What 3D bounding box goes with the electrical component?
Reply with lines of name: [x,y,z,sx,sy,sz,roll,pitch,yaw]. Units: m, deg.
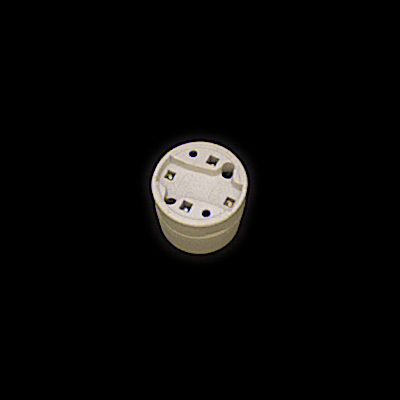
electrical component: [0.000,0.000,0.634,0.055,0.056,0.047,0,-27,-1]
